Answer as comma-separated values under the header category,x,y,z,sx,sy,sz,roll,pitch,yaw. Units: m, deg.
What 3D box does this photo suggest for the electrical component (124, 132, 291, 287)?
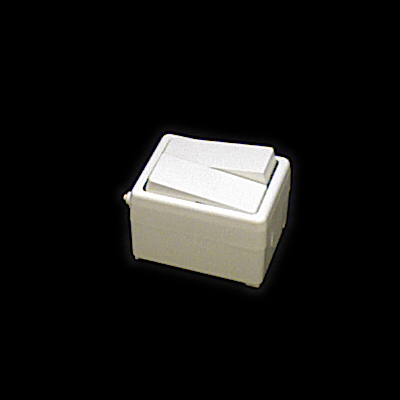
category,x,y,z,sx,sy,sz,roll,pitch,yaw
electrical component,0.000,0.000,0.631,0.096,0.061,0.061,13,43,13
